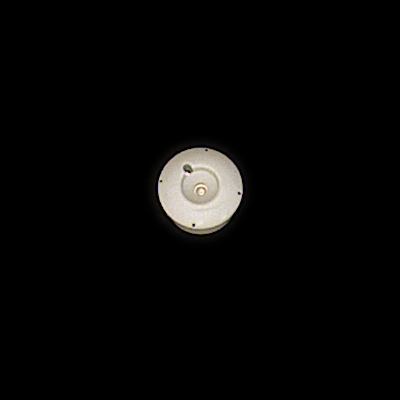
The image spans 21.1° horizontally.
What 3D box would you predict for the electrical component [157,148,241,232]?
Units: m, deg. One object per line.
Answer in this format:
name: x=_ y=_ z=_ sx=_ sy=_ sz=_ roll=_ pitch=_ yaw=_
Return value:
electrical component: x=0.000 y=0.000 z=0.633 sx=0.048 sy=0.048 sz=0.061 roll=0 pitch=-16 yaw=1
